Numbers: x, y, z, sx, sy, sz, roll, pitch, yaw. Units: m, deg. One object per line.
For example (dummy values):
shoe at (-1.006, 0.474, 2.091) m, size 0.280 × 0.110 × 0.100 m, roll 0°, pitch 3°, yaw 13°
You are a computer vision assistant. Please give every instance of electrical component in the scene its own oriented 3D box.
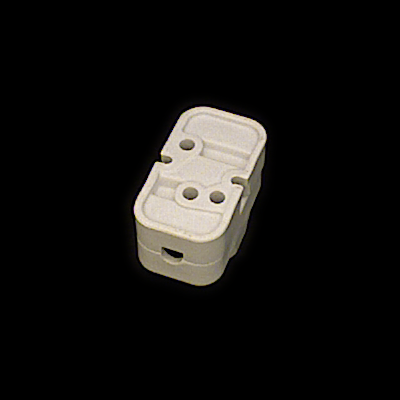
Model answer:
electrical component at (0.000, 0.000, 0.636) m, size 0.053 × 0.095 × 0.059 m, roll 17°, pitch -36°, yaw 12°
